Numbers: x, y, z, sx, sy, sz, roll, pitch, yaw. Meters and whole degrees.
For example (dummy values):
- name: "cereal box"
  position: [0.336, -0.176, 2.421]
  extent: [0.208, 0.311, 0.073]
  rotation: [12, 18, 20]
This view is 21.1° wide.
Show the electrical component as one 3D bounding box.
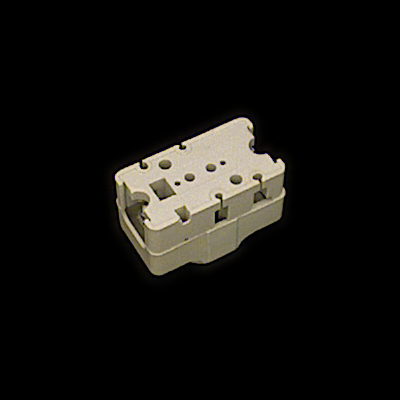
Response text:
- name: "electrical component"
  position: [0.000, 0.000, 0.637]
  extent: [0.090, 0.050, 0.056]
  rotation: [-25, -32, -17]
